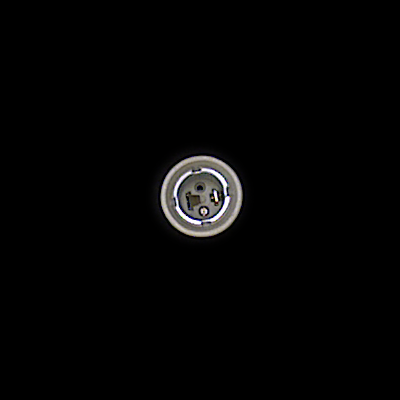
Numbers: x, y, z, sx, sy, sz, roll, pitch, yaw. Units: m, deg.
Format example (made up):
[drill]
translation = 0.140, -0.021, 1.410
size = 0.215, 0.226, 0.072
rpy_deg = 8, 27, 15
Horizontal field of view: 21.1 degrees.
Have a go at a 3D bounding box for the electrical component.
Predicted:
[electrical component]
translation = 0.000, 0.000, 0.624
size = 0.044, 0.044, 0.065
rpy_deg = 0, -5, 0
